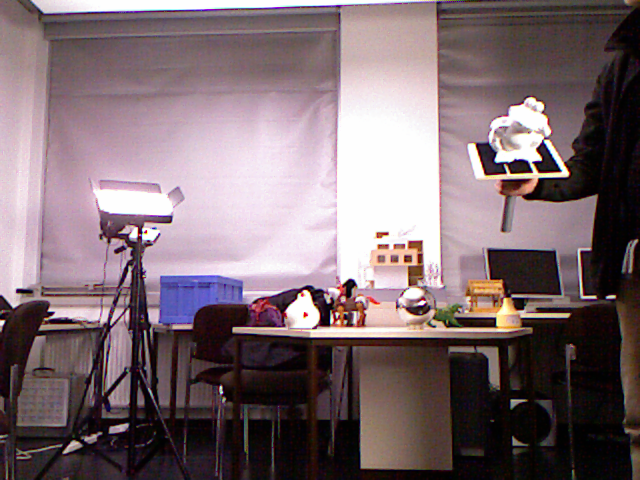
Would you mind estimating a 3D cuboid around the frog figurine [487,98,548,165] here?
[{"bbox_3d":[0.484,-0.275,1.259,0.137,0.156,0.125,8,35,21],"label":"frog figurine"}]
